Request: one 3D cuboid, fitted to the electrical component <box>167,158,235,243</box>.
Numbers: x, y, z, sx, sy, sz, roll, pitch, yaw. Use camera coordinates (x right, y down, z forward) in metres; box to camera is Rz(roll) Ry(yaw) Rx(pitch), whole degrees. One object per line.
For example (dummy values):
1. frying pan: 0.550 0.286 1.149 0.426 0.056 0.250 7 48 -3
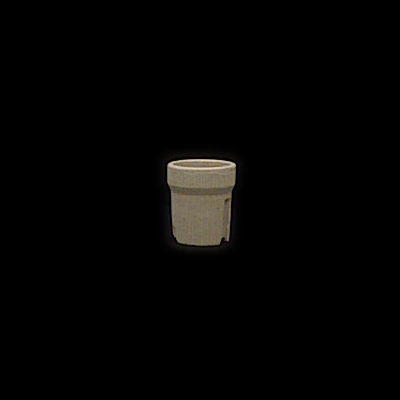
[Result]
1. electrical component: 0.000 0.000 0.645 0.040 0.046 0.040 1 11 0
